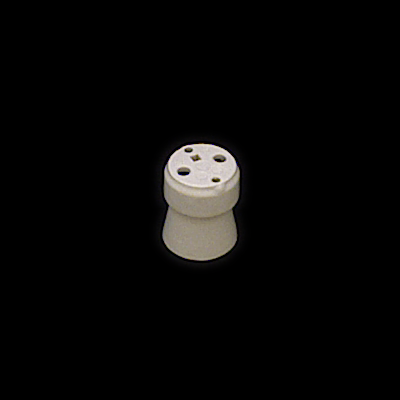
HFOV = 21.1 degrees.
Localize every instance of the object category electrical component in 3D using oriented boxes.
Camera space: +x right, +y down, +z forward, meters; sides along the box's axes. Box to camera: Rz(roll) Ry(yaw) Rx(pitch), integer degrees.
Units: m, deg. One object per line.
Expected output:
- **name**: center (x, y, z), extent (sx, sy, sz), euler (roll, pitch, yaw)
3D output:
- **electrical component**: center (0.000, 0.000, 0.633), extent (0.045, 0.056, 0.044), euler (1, 42, -1)
